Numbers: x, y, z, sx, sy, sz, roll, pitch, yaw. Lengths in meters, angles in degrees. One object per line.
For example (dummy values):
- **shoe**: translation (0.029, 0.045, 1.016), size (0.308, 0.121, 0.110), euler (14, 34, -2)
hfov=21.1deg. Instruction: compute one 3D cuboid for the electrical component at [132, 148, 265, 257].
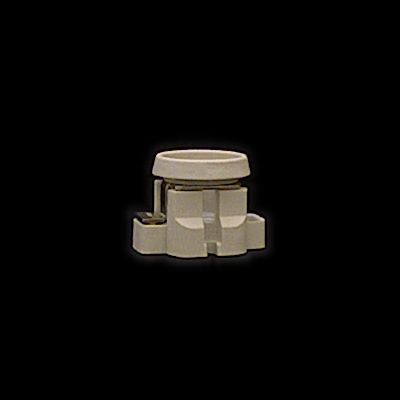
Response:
- **electrical component**: translation (0.000, 0.000, 0.642), size (0.079, 0.057, 0.057), euler (-2, 11, -18)
